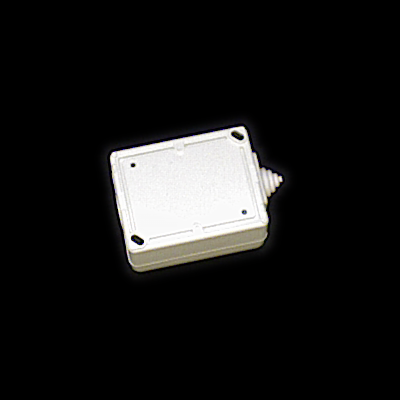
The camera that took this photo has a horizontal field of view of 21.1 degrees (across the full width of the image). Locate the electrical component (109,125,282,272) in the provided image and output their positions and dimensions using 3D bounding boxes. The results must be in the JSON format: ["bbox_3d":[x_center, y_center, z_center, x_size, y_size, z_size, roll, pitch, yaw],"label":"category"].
[{"bbox_3d":[0.000,0.000,0.627,0.096,0.062,0.061,-12,-17,-4],"label":"electrical component"}]
